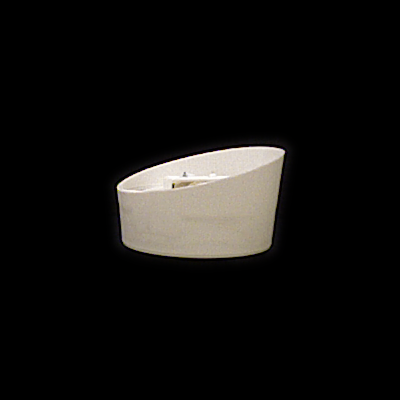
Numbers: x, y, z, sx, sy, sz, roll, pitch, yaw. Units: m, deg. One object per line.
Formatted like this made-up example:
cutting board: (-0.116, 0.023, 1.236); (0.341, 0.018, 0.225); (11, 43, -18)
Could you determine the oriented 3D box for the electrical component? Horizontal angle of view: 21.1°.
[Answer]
electrical component: (0.000, 0.000, 0.644); (0.099, 0.064, 0.098); (2, 9, 0)
